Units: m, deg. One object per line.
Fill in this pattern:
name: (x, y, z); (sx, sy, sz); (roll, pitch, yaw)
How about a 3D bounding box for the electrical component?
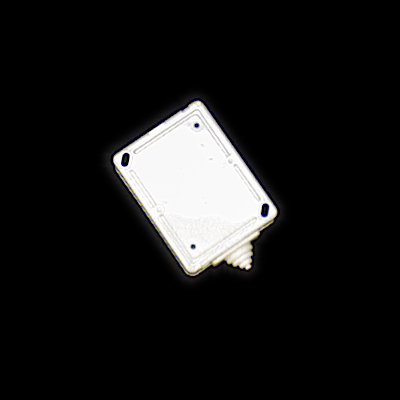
electrical component: (0.000, 0.000, 0.626); (0.062, 0.096, 0.060); (-34, -6, -4)
